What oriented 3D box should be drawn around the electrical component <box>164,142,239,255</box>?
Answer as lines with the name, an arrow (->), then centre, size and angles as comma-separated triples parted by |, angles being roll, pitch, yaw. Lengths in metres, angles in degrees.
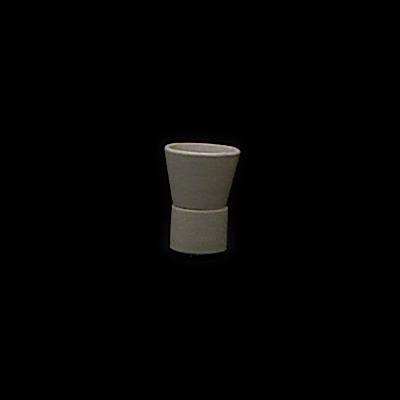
electrical component -> 0.000, 0.000, 0.644 | 0.044, 0.066, 0.044 | 2, 11, 0
